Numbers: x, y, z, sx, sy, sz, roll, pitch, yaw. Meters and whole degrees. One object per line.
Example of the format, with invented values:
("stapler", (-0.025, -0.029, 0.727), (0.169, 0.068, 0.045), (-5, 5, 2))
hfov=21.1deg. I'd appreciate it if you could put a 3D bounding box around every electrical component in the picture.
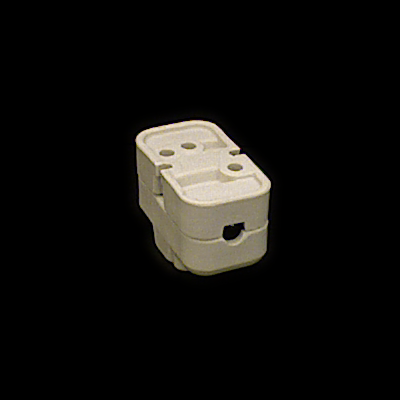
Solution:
("electrical component", (0.000, 0.000, 0.639), (0.054, 0.060, 0.093), (-13, 35, -21))
